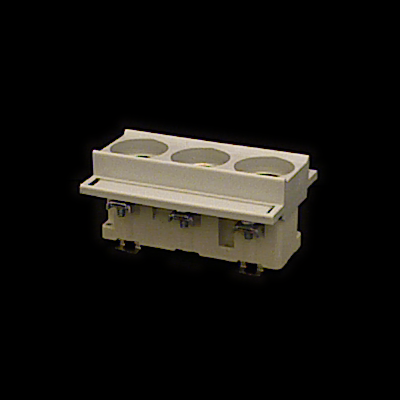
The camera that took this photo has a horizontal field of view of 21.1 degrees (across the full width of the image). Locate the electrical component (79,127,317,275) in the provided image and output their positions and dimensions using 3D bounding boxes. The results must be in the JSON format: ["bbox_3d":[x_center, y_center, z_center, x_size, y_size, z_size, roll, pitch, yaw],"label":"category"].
[{"bbox_3d":[0.000,0.000,0.650,0.121,0.064,0.078,10,25,21],"label":"electrical component"}]
